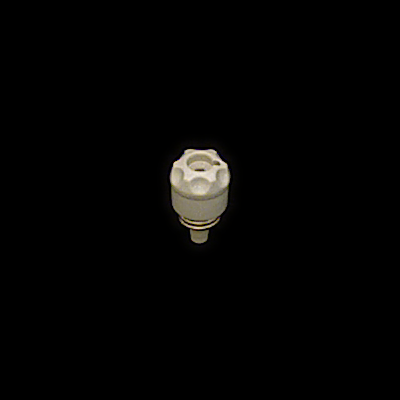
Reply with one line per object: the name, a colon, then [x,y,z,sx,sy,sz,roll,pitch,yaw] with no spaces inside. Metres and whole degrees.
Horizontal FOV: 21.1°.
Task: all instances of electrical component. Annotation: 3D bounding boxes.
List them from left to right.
electrical component: [0.000,0.000,0.637,0.035,0.062,0.035,1,43,0]
